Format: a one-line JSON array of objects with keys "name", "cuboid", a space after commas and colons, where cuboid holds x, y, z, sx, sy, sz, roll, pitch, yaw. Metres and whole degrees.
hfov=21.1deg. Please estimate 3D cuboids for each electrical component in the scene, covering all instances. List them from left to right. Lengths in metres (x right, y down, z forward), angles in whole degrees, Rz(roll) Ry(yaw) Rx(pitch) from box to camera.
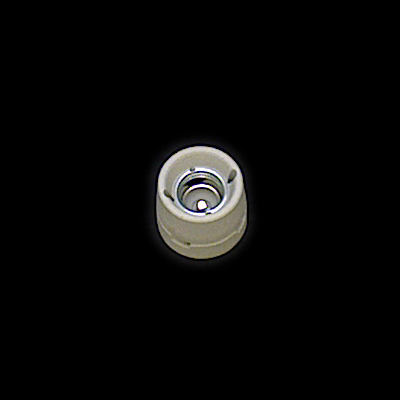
[{"name": "electrical component", "cuboid": [0.000, 0.000, 0.633, 0.055, 0.056, 0.047, 0, -27, 1]}]
